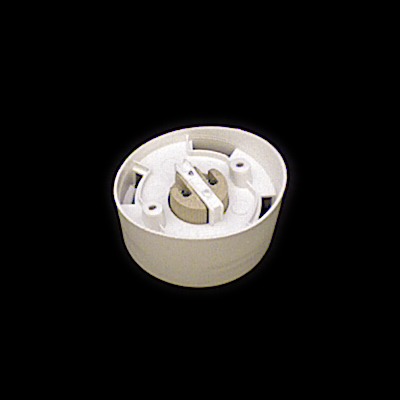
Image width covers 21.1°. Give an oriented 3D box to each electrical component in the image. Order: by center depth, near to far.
[{"bbox_3d":[0.000,0.000,0.626,0.099,0.098,0.064,0,-37,-2],"label":"electrical component"}]
